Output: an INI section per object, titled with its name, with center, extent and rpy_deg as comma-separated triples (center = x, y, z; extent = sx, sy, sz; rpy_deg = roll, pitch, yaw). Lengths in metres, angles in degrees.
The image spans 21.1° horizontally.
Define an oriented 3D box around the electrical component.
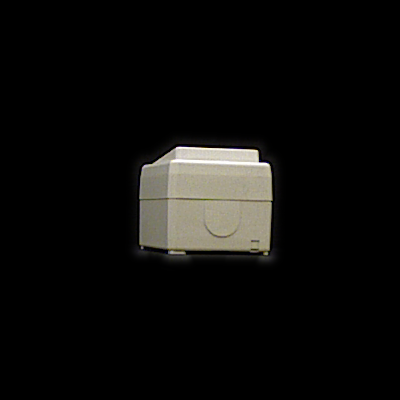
[electrical component]
center = 0.000, 0.000, 0.652
extent = 0.062, 0.061, 0.096
rpy_deg = 1, 0, -16
